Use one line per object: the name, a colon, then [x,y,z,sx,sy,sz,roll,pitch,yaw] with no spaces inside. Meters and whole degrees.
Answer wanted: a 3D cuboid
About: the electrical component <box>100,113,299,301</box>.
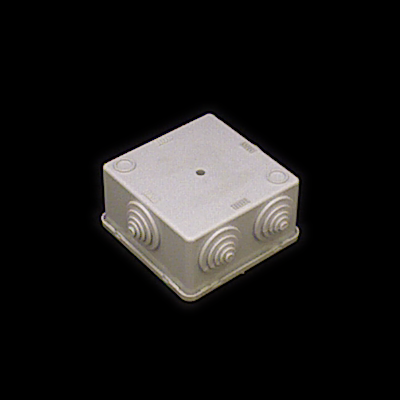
electrical component: [0.000,0.000,0.635,0.099,0.049,0.099,-28,50,-28]
